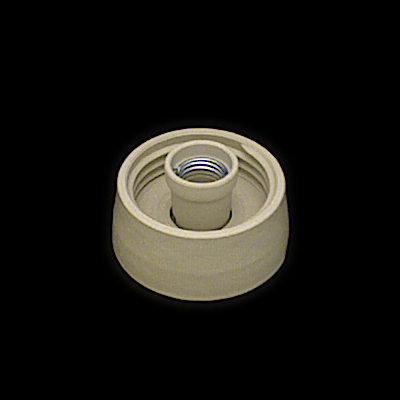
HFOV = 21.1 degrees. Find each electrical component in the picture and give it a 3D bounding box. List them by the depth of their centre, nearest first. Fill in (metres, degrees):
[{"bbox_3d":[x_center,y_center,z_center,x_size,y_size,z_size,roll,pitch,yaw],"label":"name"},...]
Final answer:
[{"bbox_3d":[0.000,0.000,0.638,0.108,0.061,0.107,1,42,0],"label":"electrical component"}]
